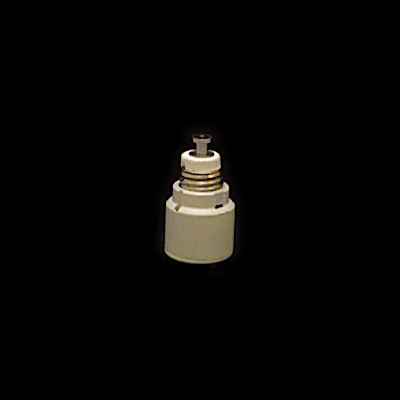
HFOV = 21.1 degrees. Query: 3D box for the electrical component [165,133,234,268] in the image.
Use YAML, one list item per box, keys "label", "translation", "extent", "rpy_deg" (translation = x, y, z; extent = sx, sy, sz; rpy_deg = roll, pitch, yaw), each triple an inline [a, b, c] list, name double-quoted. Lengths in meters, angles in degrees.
- label: "electrical component"
  translation: [0.000, 0.000, 0.634]
  extent: [0.040, 0.079, 0.039]
  rpy_deg: [1, 20, 0]
